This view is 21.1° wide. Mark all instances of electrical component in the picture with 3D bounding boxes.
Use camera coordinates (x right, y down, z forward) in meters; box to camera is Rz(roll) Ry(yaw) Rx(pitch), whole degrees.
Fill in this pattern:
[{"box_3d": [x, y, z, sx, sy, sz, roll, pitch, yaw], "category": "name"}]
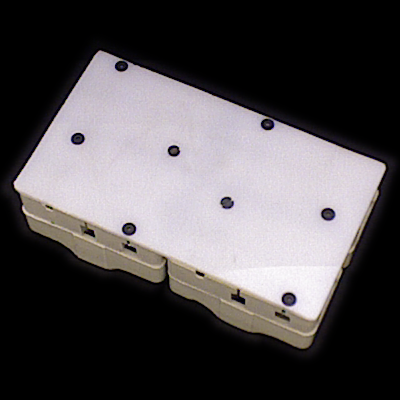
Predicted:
[{"box_3d": [0.000, 0.000, 0.626, 0.186, 0.106, 0.060, 23, -25, 11], "category": "electrical component"}]
